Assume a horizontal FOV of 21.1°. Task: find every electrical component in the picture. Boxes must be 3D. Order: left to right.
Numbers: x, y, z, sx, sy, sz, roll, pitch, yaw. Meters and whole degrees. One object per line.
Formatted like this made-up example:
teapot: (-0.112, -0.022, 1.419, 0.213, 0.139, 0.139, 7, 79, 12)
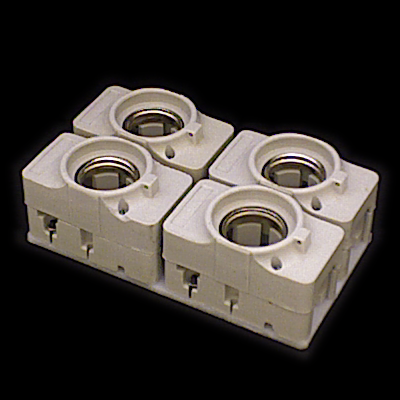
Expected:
electrical component: (0.000, 0.000, 0.631, 0.185, 0.061, 0.105, 20, 45, 20)
